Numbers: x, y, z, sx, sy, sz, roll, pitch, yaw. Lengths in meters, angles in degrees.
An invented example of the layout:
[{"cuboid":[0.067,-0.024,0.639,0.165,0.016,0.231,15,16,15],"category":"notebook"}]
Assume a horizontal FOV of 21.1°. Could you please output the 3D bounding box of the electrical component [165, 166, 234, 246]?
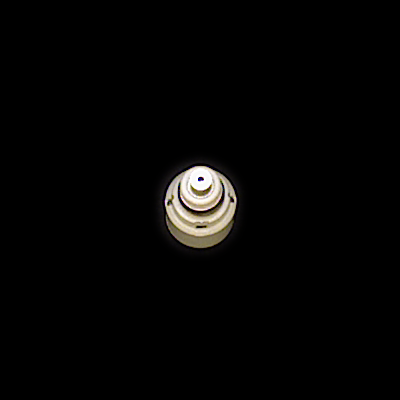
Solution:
[{"cuboid":[0.000,0.000,0.617,0.040,0.040,0.078,0,-17,-1],"category":"electrical component"}]
